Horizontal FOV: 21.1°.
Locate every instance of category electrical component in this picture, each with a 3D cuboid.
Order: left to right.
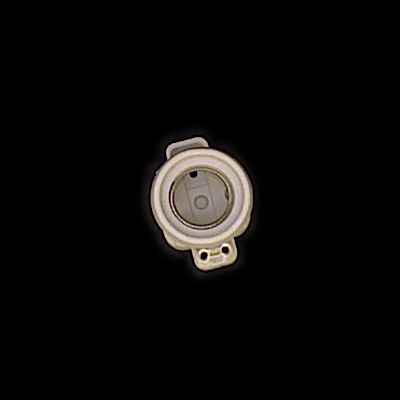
[{"bbox_3d":[0.000,0.000,0.629,0.058,0.078,0.056,-15,-6,-1],"label":"electrical component"}]
